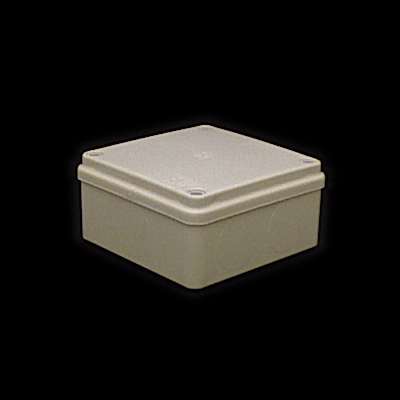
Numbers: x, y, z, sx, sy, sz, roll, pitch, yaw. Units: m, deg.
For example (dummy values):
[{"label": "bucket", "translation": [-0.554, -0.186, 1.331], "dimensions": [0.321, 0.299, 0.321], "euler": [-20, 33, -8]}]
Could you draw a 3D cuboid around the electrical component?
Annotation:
[{"label": "electrical component", "translation": [0.000, 0.000, 0.641], "dimensions": [0.108, 0.057, 0.107], "euler": [-17, 27, -40]}]
